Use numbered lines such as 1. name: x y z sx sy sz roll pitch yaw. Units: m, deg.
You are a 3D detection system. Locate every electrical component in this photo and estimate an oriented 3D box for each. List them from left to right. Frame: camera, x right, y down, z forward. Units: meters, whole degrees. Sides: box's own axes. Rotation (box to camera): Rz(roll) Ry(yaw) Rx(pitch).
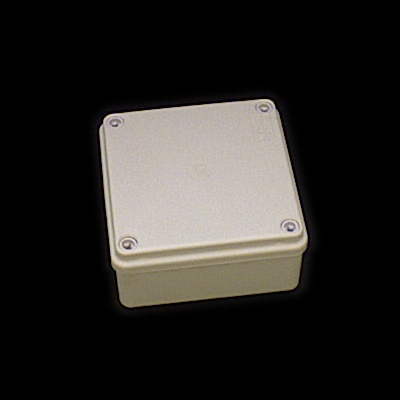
1. electrical component: 0.000 0.000 0.630 0.109 0.108 0.056 -6 -37 -5
